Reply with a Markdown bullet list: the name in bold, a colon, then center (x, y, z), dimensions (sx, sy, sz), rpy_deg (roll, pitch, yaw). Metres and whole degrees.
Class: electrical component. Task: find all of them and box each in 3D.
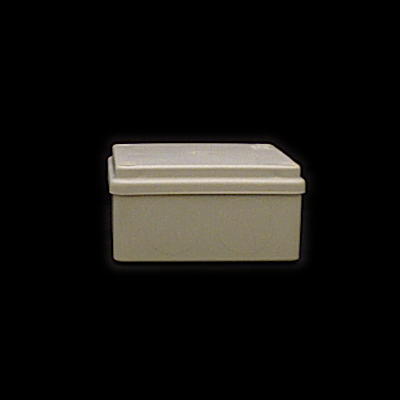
- **electrical component**: center (0.000, 0.000, 0.643), dimensions (0.109, 0.056, 0.108), rpy_deg (0, 10, -6)
